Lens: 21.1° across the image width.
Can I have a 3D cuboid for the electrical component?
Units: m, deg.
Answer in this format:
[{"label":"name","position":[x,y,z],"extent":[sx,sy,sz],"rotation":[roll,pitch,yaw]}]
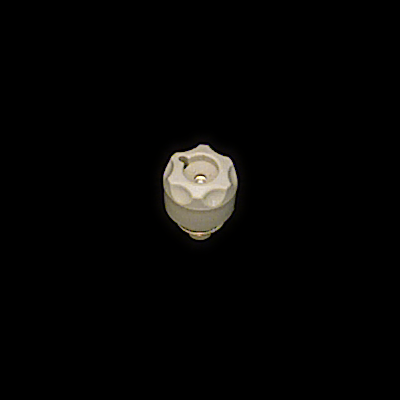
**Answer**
[{"label":"electrical component","position":[0.000,0.000,0.635],"extent":[0.043,0.043,0.062],"rotation":[0,-37,-1]}]
